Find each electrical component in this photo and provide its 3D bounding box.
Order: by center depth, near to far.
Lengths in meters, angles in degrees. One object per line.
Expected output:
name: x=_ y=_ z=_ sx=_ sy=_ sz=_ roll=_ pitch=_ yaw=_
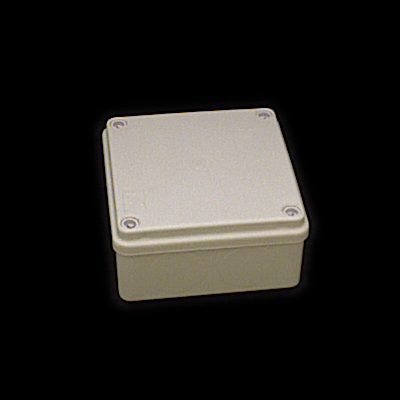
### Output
electrical component: x=0.000 y=0.000 z=0.633 sx=0.109 sy=0.057 sz=0.107 roll=-4 pitch=42 yaw=-6
